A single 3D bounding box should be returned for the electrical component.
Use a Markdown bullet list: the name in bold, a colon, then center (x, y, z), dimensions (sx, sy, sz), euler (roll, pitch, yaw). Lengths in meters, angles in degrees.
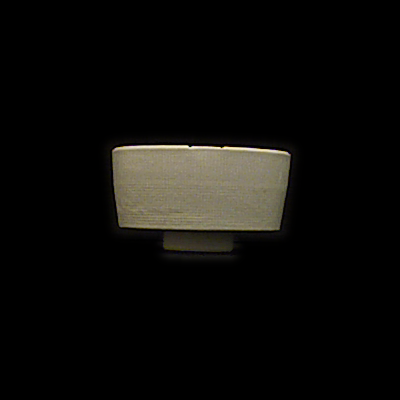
- **electrical component**: center (0.000, 0.000, 0.653), dimensions (0.108, 0.060, 0.108), euler (1, 0, 0)
